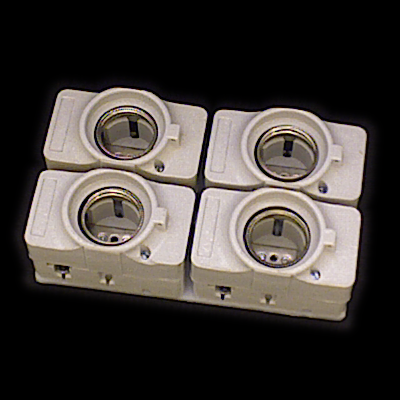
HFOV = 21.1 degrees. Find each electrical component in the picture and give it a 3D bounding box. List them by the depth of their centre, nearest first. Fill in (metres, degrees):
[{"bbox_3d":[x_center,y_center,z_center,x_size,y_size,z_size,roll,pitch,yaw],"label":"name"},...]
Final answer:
[{"bbox_3d":[0.000,0.000,0.626,0.186,0.105,0.060,7,-27,3],"label":"electrical component"}]
